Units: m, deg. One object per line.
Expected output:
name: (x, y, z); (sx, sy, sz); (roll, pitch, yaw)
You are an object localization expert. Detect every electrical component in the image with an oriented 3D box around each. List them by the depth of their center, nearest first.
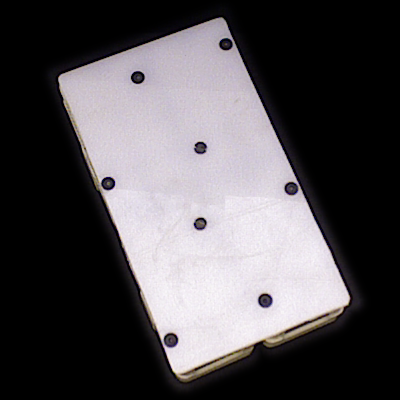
electrical component: (0.000, 0.000, 0.625); (0.106, 0.187, 0.060); (-21, -16, -7)
